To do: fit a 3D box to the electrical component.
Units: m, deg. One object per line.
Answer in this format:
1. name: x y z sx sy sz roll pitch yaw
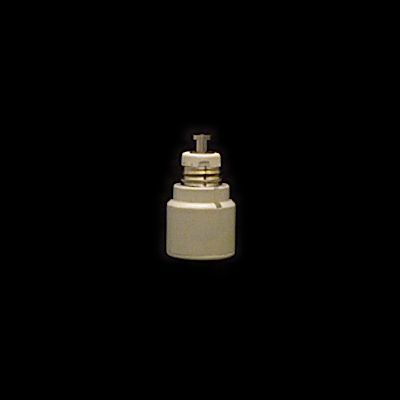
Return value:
1. electrical component: 0.000 0.000 0.641 0.040 0.079 0.040 0 11 0
